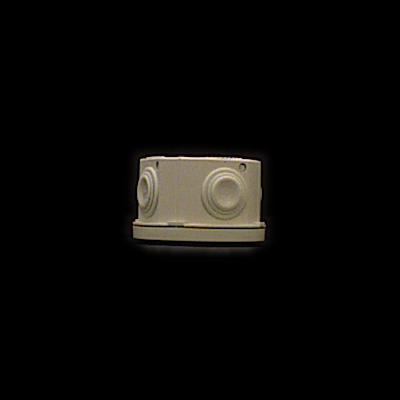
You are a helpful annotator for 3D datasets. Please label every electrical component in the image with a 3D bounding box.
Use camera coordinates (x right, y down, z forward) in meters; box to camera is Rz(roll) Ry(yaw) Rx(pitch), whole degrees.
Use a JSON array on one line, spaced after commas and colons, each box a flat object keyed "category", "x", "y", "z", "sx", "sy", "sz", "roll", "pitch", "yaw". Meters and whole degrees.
[{"category": "electrical component", "x": 0.000, "y": 0.000, "z": 0.648, "sx": 0.080, "sy": 0.051, "sz": 0.080, "roll": 1, "pitch": 1, "yaw": 0}]
